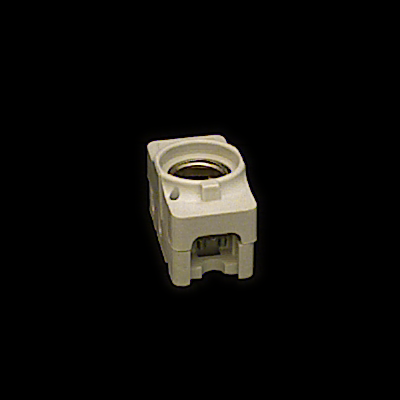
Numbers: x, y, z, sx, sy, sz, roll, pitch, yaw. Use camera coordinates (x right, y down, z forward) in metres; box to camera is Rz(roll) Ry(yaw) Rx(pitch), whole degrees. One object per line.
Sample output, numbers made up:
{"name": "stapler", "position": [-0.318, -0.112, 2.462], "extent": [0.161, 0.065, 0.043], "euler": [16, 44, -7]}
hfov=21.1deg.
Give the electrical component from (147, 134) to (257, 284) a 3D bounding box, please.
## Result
{"name": "electrical component", "position": [0.000, 0.000, 0.642], "extent": [0.050, 0.056, 0.088], "euler": [-6, 33, -11]}
